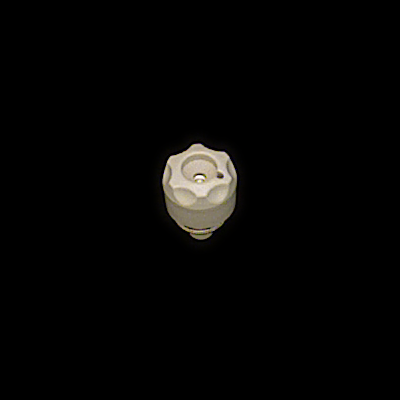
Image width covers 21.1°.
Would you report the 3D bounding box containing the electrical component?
[{"bbox_3d":[0.000,0.000,0.635,0.043,0.043,0.062,0,-37,1],"label":"electrical component"}]
